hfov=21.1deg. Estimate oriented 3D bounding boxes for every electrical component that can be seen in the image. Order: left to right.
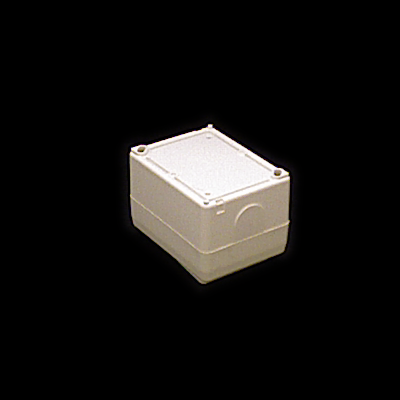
[{"bbox_3d":[0.000,0.000,0.637,0.061,0.061,0.095,-20,36,-30],"label":"electrical component"}]
